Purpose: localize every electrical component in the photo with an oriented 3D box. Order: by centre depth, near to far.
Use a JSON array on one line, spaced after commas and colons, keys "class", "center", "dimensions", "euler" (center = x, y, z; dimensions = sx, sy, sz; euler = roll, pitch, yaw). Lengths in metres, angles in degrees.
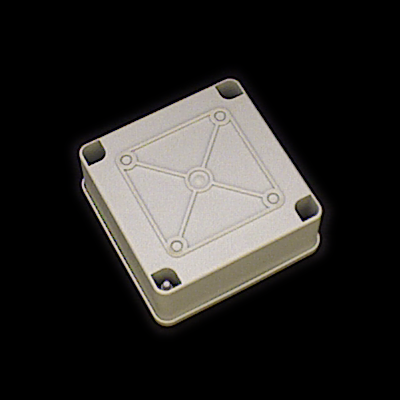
[{"class": "electrical component", "center": [0.000, 0.000, 0.626], "dimensions": [0.109, 0.109, 0.056], "euler": [-26, -24, -12]}]
